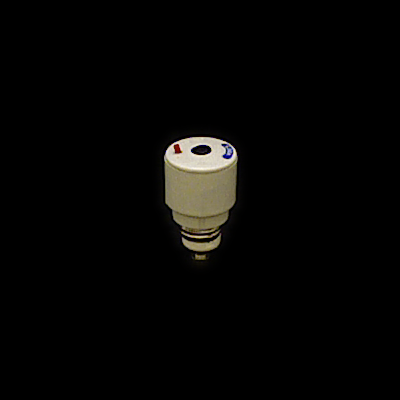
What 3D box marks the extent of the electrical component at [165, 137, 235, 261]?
[{"bbox_3d":[0.000,0.000,0.629,0.040,0.079,0.039,0,31,0],"label":"electrical component"}]
